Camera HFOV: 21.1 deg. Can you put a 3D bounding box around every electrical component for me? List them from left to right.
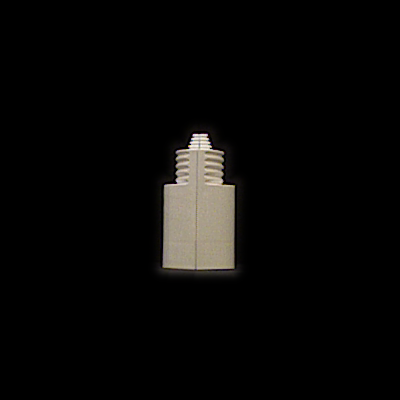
[{"bbox_3d":[0.000,0.000,0.650,0.043,0.081,0.043,1,1,0],"label":"electrical component"}]
